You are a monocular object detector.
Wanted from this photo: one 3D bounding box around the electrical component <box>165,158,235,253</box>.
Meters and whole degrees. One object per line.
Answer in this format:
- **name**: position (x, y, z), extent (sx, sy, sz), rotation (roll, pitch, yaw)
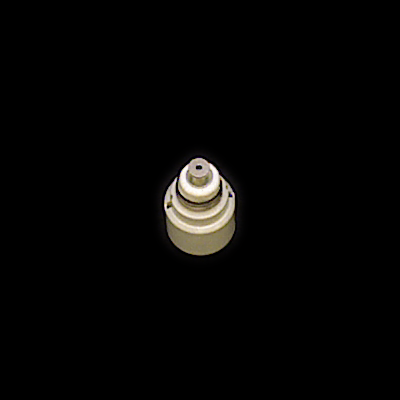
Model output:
- **electrical component**: position (0.000, 0.000, 0.618), extent (0.040, 0.040, 0.078), rotation (0, -27, 1)
